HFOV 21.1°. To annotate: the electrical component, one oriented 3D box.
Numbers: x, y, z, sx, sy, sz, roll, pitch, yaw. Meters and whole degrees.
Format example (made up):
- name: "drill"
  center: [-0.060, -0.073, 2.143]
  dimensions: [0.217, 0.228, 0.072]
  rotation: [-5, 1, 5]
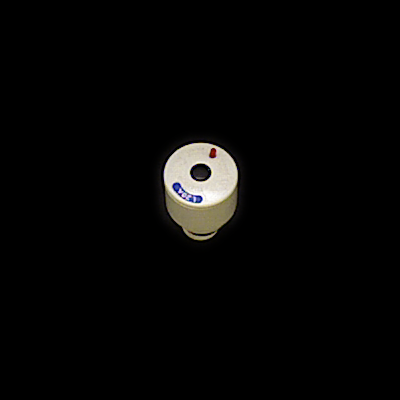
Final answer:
- name: "electrical component"
  center: [0.000, 0.000, 0.619]
  dimensions: [0.040, 0.040, 0.078]
  rotation: [0, -28, 0]
